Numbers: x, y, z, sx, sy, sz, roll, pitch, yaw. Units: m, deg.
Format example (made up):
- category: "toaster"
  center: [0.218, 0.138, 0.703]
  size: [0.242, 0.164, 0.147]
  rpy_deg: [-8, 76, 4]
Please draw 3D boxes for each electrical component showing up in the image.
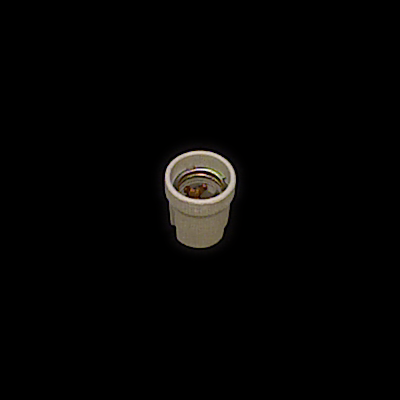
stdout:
- category: "electrical component"
  center: [0.000, 0.000, 0.631]
  size: [0.040, 0.040, 0.047]
  rpy_deg: [0, -38, -1]
